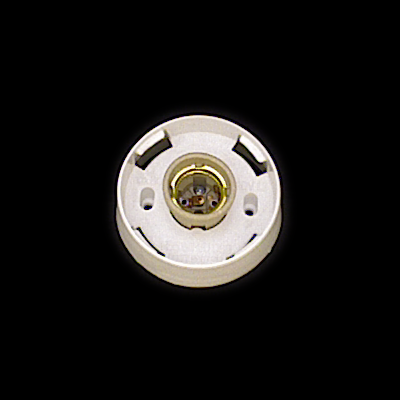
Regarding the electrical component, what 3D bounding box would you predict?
[{"bbox_3d":[0.000,0.000,0.625,0.099,0.099,0.064,0,-17,0],"label":"electrical component"}]
